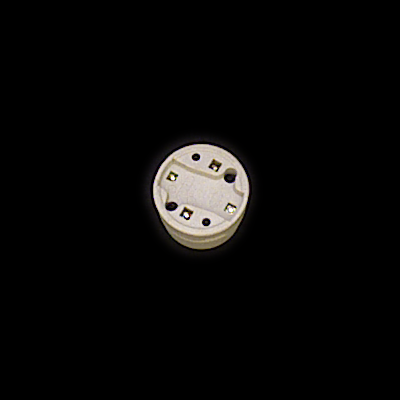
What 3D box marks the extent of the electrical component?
[{"bbox_3d":[0.000,0.000,0.635,0.055,0.056,0.047,0,-17,0],"label":"electrical component"}]
